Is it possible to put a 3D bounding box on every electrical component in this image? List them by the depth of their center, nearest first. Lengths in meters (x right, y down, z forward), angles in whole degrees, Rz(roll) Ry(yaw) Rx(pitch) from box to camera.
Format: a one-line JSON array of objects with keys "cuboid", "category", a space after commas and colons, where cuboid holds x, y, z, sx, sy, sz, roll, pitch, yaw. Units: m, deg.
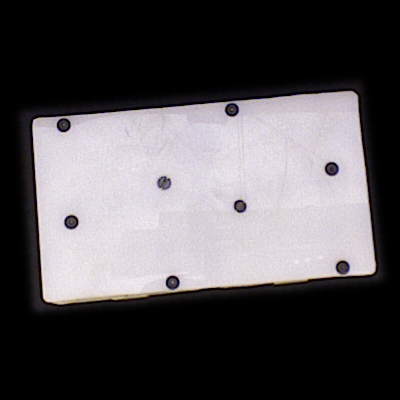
[{"cuboid": [0.000, 0.000, 0.626, 0.186, 0.106, 0.060, -5, -7, 0], "category": "electrical component"}]
